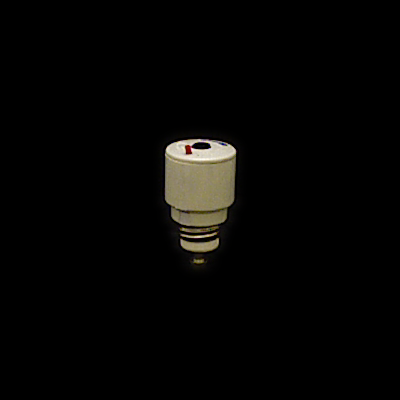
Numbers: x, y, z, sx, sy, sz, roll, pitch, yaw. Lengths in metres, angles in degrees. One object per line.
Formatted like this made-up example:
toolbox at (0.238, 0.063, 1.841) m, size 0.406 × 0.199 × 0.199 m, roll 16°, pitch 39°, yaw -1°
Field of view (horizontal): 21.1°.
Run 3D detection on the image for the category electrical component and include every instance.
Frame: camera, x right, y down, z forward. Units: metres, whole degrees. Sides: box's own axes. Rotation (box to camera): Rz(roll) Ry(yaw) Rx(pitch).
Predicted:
electrical component at (0.000, 0.000, 0.633) m, size 0.040 × 0.079 × 0.039 m, roll 1°, pitch 22°, yaw 0°
